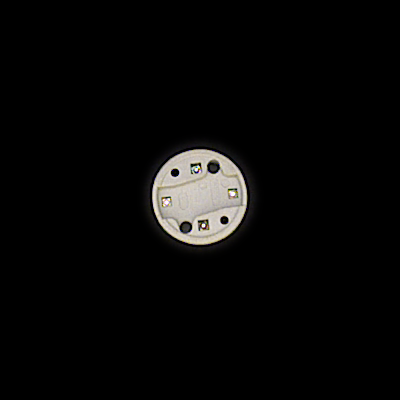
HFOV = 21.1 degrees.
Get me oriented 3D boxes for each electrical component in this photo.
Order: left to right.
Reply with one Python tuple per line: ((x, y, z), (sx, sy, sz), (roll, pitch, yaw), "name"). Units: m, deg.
((0.000, 0.000, 0.636), (0.055, 0.055, 0.047), (0, -6, 0), "electrical component")
